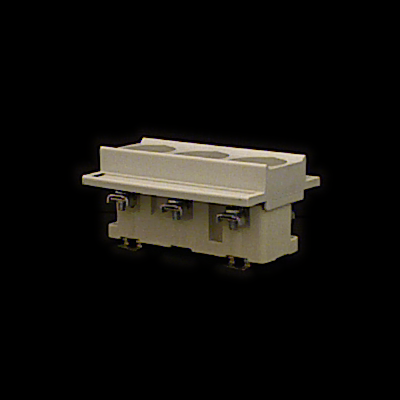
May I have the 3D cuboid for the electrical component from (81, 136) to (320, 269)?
[{"bbox_3d":[0.000,0.000,0.655,0.120,0.063,0.078,9,15,35],"label":"electrical component"}]
